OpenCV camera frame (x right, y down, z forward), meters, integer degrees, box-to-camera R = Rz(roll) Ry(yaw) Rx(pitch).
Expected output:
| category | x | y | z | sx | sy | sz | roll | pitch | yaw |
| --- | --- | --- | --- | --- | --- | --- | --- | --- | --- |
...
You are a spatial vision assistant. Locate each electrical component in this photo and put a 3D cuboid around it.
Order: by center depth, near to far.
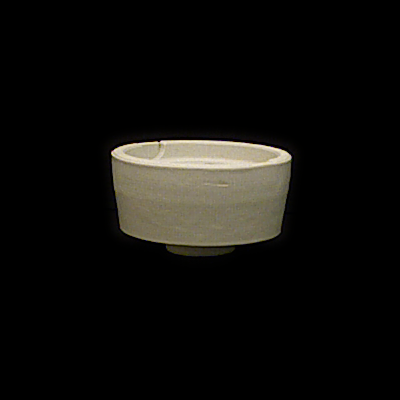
| category | x | y | z | sx | sy | sz | roll | pitch | yaw |
| --- | --- | --- | --- | --- | --- | --- | --- | --- | --- |
| electrical component | 0.000 | 0.000 | 0.651 | 0.108 | 0.061 | 0.107 | 2 | 11 | 0 |
